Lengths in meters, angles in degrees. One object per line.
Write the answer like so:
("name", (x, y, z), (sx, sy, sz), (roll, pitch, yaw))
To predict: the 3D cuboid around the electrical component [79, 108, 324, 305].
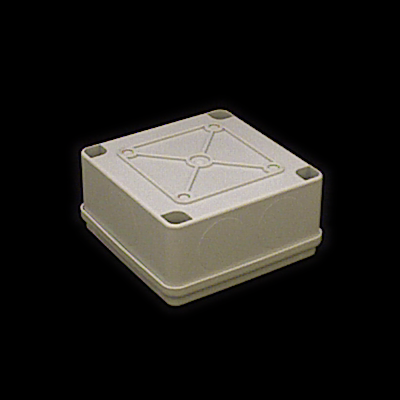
("electrical component", (0.000, 0.000, 0.634), (0.109, 0.057, 0.107), (-19, 36, -29))
